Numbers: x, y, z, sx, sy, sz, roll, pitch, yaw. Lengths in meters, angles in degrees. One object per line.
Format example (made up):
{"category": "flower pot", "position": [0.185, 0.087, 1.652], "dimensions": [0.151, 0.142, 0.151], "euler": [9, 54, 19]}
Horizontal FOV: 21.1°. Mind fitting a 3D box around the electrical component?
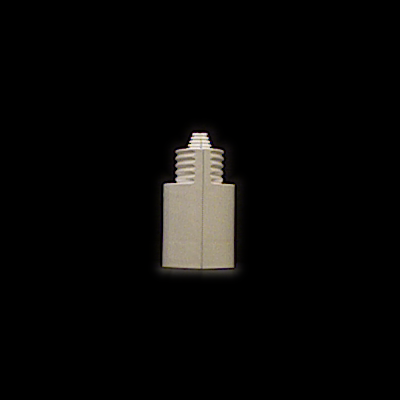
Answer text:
{"category": "electrical component", "position": [0.000, 0.000, 0.650], "dimensions": [0.043, 0.081, 0.043], "euler": [1, 1, 0]}
